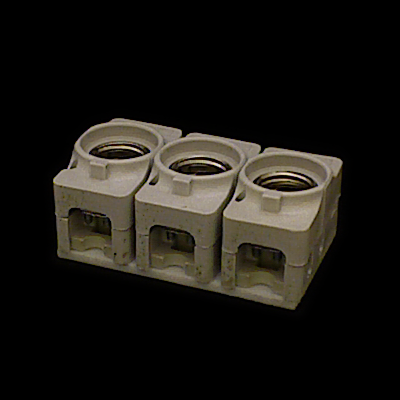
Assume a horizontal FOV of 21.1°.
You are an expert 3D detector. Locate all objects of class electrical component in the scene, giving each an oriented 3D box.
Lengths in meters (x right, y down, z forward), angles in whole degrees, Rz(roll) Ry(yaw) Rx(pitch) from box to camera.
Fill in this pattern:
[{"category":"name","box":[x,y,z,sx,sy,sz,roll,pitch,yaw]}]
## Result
[{"category":"electrical component","box":[0.000,0.000,0.639,0.149,0.063,0.088,11,33,17]}]
